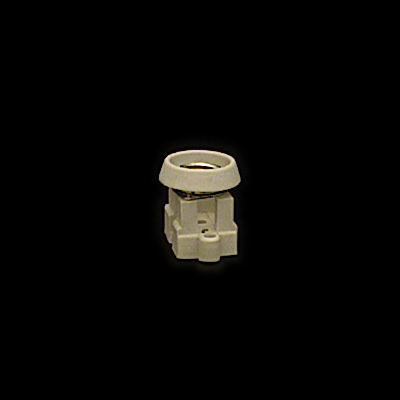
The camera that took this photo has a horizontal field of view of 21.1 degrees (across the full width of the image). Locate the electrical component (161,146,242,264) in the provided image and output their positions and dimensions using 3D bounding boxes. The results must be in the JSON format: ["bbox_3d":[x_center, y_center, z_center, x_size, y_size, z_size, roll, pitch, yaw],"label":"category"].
[{"bbox_3d":[0.000,0.000,0.647,0.049,0.056,0.065,-3,22,-14],"label":"electrical component"}]
